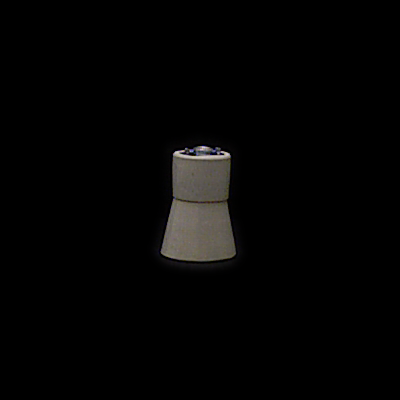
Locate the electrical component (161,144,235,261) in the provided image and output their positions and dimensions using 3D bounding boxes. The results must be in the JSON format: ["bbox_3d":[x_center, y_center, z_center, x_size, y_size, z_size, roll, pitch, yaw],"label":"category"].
[{"bbox_3d":[0.000,0.000,0.642,0.044,0.066,0.044,2,12,0],"label":"electrical component"}]
